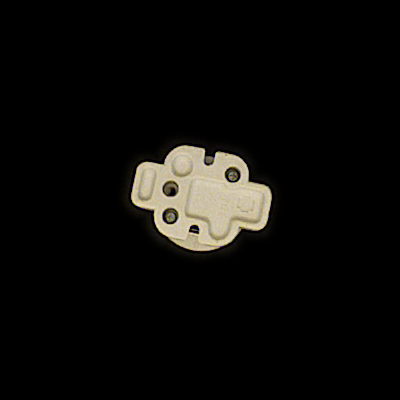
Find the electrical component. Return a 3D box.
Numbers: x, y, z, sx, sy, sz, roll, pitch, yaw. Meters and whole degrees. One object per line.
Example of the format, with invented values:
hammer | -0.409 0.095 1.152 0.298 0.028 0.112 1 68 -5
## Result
electrical component | 0.000 0.000 0.637 0.078 0.058 0.056 10 -6 0
